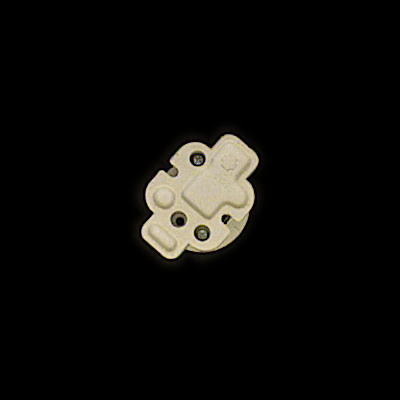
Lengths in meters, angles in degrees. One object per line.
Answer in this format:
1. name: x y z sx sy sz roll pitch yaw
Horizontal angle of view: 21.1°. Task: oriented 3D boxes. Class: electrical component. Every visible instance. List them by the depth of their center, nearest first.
1. electrical component: 0.000 0.000 0.637 0.058 0.079 0.056 40 -5 5
